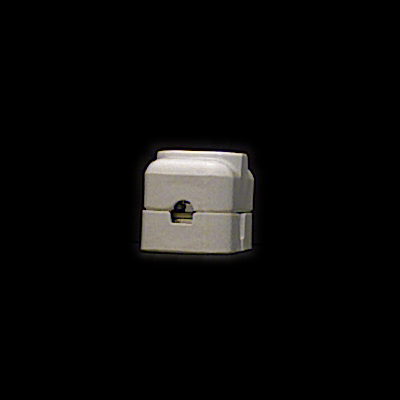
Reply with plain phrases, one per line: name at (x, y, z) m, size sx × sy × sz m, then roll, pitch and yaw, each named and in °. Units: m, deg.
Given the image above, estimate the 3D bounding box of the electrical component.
electrical component at (0.000, 0.000, 0.657) m, size 0.053 × 0.059 × 0.095 m, roll 2°, pitch 0°, yaw 12°
